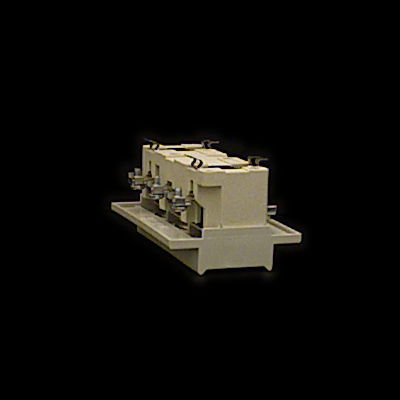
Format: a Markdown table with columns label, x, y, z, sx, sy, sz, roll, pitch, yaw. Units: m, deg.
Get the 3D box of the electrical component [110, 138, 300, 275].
| label | x | y | z | sx | sy | sz | roll | pitch | yaw |
| --- | --- | --- | --- | --- | --- | --- | --- | --- | --- |
| electrical component | 0.000 | 0.000 | 0.653 | 0.079 | 0.063 | 0.120 | -2 | 11 | -20 |
